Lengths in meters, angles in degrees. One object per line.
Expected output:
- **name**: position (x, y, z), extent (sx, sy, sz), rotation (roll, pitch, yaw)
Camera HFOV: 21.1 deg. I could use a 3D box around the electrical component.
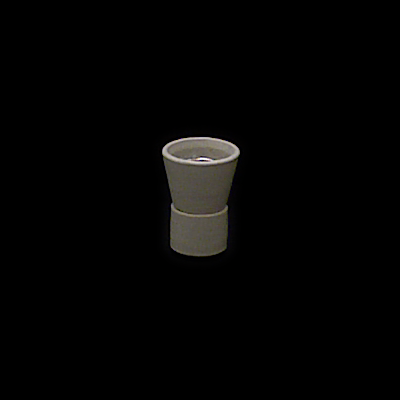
- **electrical component**: position (0.000, 0.000, 0.636), extent (0.044, 0.066, 0.044), rotation (1, 22, -1)
